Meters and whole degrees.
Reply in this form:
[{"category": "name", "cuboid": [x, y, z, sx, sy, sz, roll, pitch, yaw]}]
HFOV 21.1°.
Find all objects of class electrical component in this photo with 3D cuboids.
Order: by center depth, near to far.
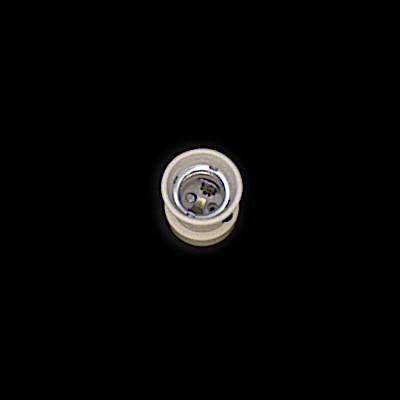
[{"category": "electrical component", "cuboid": [0.000, 0.000, 0.628, 0.045, 0.045, 0.055, 0, -17, 0]}]
